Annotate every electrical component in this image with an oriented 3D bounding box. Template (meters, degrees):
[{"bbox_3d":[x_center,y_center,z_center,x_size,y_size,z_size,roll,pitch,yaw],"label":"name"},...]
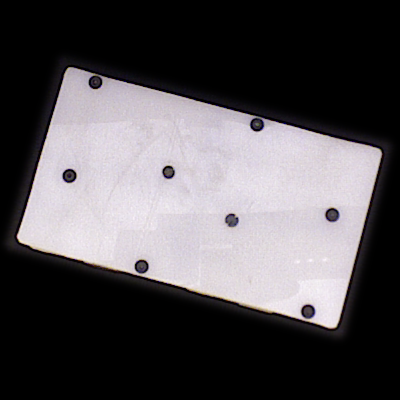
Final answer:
[{"bbox_3d":[0.000,0.000,0.626,0.186,0.106,0.060,15,-6,2],"label":"electrical component"}]
